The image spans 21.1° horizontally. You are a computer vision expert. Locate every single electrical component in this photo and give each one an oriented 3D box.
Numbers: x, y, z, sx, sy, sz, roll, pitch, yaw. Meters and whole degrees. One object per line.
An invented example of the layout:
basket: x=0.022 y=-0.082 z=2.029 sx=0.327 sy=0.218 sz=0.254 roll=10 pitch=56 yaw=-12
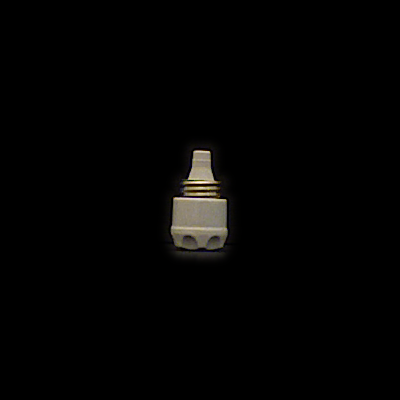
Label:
electrical component: x=0.000 y=0.000 z=0.664 sx=0.035 sy=0.061 sz=0.035 roll=2 pitch=3 yaw=0
